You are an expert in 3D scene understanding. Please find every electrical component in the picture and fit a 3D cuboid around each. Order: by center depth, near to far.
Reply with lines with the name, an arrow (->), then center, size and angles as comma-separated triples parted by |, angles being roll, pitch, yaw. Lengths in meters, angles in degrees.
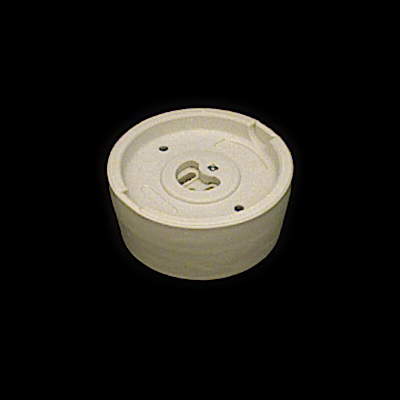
electrical component -> 0.000, 0.000, 0.641 | 0.108, 0.061, 0.106 | 1, 43, 0
